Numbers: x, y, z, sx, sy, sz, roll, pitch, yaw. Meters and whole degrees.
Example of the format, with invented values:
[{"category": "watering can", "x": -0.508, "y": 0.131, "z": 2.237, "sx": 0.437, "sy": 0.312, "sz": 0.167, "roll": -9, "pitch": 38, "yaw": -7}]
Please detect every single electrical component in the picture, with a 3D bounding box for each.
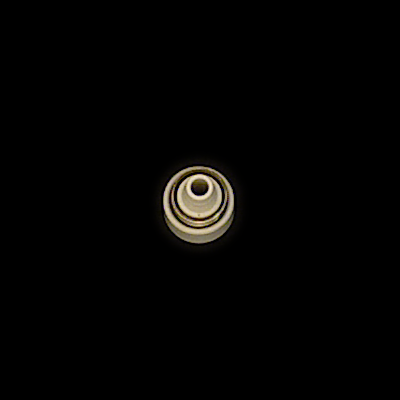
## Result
[{"category": "electrical component", "x": 0.000, "y": 0.000, "z": 0.633, "sx": 0.043, "sy": 0.043, "sz": 0.061, "roll": 0, "pitch": -15, "yaw": -1}]
